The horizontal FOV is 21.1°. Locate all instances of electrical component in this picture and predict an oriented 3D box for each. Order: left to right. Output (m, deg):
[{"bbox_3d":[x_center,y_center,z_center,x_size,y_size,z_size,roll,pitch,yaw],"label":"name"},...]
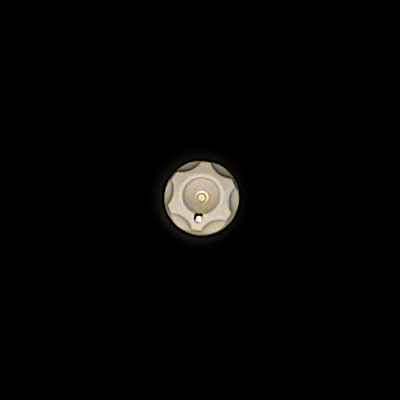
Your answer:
[{"bbox_3d":[0.000,0.000,0.635,0.043,0.043,0.062,0,-6,1],"label":"electrical component"}]
